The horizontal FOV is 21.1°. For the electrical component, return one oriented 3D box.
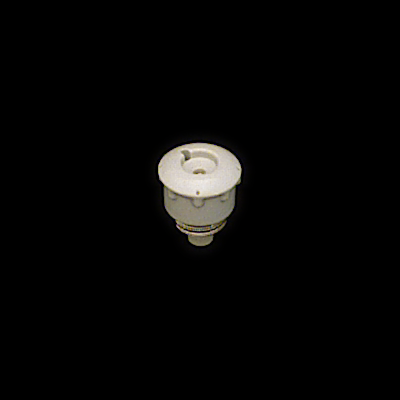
[{"bbox_3d":[0.000,0.000,0.636,0.048,0.062,0.047,1,42,0],"label":"electrical component"}]
